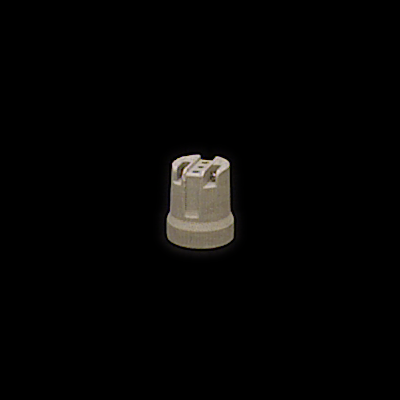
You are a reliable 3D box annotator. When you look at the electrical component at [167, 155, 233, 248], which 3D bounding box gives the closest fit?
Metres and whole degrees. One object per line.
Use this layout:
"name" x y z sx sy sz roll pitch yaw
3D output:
"electrical component" 0.000 0.000 0.641 0.040 0.046 0.040 1 21 0
